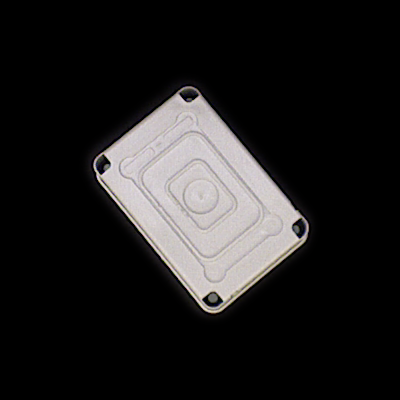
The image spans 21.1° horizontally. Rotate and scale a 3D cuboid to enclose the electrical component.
[{"bbox_3d":[0.000,0.000,0.629,0.078,0.113,0.057,-39,-6,-4],"label":"electrical component"}]
